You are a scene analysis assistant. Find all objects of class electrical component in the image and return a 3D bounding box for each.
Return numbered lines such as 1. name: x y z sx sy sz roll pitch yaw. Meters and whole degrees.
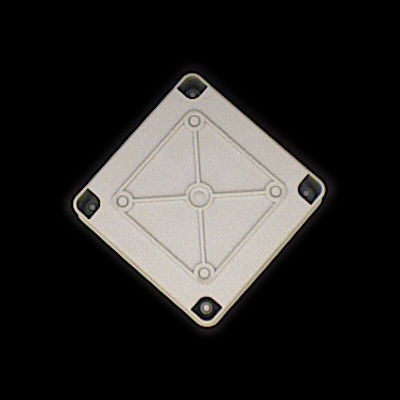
1. electrical component: 0.000 0.000 0.628 0.109 0.109 0.056 41 -5 4
